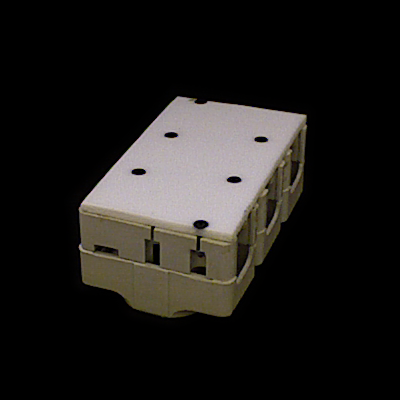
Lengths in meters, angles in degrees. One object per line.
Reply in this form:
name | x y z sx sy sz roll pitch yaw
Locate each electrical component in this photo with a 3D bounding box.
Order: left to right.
electrical component | 0.000 0.000 0.637 0.089 0.063 0.147 11 33 17
